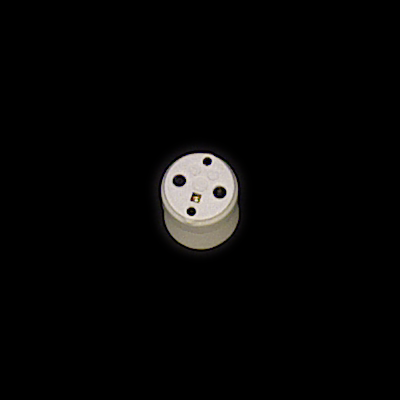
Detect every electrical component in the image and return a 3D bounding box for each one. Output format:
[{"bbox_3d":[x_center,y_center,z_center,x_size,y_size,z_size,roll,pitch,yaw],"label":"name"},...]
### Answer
[{"bbox_3d":[0.000,0.000,0.629,0.045,0.045,0.055,0,-17,1],"label":"electrical component"}]
